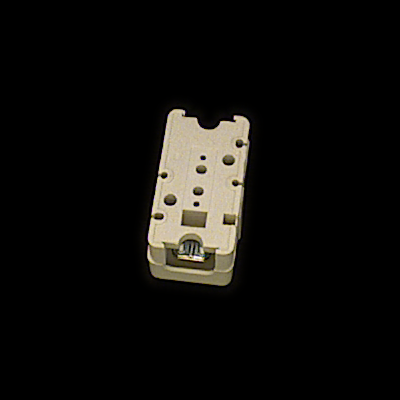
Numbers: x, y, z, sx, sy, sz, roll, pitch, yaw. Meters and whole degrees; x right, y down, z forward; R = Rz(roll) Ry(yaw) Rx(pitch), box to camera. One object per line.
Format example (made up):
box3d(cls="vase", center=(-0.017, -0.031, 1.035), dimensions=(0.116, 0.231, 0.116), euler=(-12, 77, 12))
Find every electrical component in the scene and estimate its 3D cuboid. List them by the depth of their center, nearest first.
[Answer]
box3d(cls="electrical component", center=(0.000, 0.000, 0.636), dimensions=(0.050, 0.090, 0.055), euler=(7, -26, 3))
